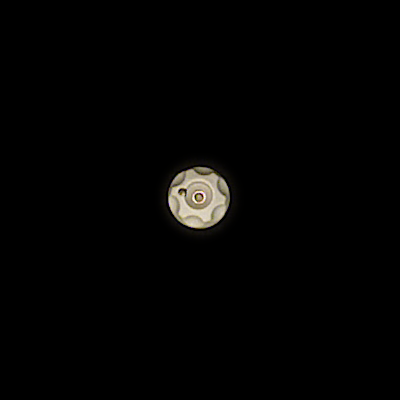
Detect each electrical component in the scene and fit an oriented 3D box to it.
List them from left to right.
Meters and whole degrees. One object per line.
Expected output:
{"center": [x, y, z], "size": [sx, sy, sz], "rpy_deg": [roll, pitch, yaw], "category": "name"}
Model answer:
{"center": [0.000, 0.000, 0.635], "size": [0.035, 0.035, 0.061], "rpy_deg": [0, -6, 1], "category": "electrical component"}
